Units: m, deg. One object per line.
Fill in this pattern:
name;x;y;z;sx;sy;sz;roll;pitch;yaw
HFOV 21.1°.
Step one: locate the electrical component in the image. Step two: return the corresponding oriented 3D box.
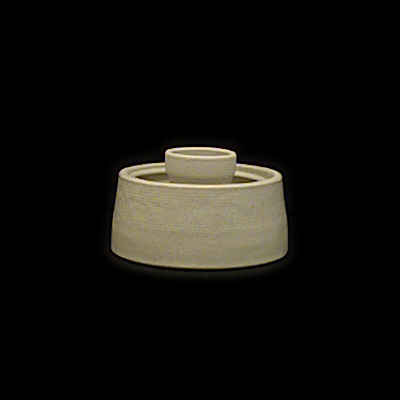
electrical component;0.000;0.000;0.650;0.108;0.061;0.107;1;11;0
